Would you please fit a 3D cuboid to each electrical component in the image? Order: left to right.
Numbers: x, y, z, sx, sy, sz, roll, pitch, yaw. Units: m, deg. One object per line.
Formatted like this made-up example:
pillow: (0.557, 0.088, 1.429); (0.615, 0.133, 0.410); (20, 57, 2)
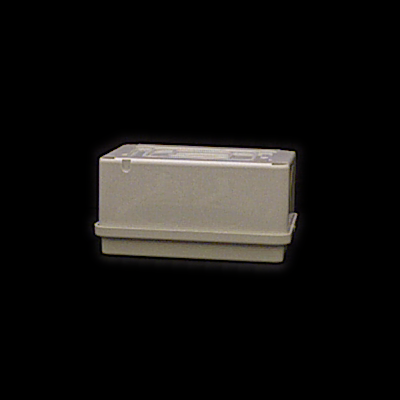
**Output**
electrical component: (0.000, 0.000, 0.644); (0.113, 0.057, 0.077); (3, 11, 7)
